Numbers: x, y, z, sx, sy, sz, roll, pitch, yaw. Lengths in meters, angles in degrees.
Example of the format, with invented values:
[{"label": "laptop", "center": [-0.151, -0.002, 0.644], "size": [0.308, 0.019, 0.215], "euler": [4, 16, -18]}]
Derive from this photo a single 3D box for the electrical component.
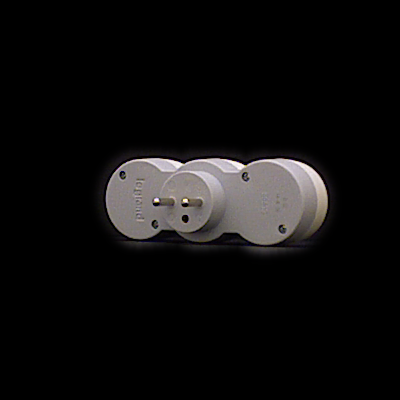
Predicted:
[{"label": "electrical component", "center": [0.000, 0.000, 0.649], "size": [0.138, 0.052, 0.073], "euler": [2, 3, 29]}]
